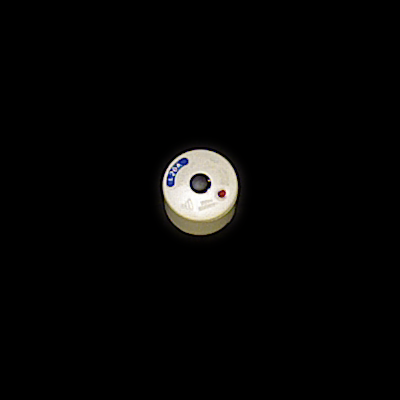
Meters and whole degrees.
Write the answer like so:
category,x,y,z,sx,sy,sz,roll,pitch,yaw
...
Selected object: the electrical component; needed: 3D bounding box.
category,x,y,z,sx,sy,sz,roll,pitch,yaw
electrical component,0.000,0.000,0.616,0.040,0.040,0.078,0,-16,-1
